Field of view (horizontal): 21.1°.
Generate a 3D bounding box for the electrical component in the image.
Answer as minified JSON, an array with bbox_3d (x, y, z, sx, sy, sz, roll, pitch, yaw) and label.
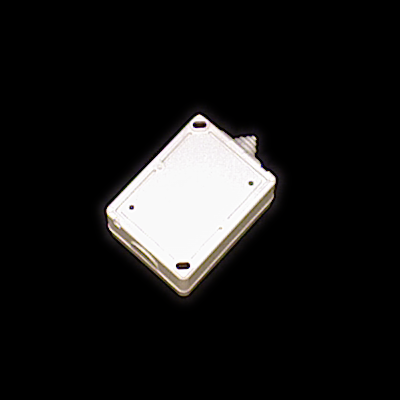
[{"bbox_3d":[0.000,0.000,0.628,0.062,0.096,0.060,40,-14,11],"label":"electrical component"}]
